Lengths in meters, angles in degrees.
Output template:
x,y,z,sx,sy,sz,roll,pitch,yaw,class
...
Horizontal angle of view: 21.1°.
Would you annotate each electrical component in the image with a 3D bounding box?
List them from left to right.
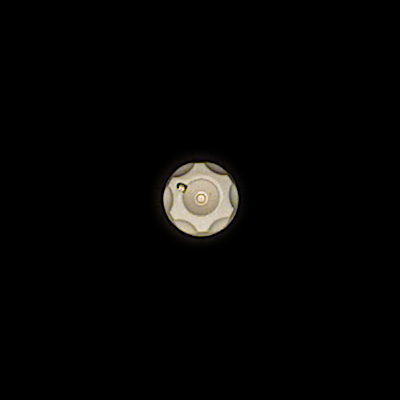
x,y,z,sx,sy,sz,roll,pitch,yaw,class
0.000,0.000,0.635,0.043,0.043,0.062,0,-5,0,electrical component
